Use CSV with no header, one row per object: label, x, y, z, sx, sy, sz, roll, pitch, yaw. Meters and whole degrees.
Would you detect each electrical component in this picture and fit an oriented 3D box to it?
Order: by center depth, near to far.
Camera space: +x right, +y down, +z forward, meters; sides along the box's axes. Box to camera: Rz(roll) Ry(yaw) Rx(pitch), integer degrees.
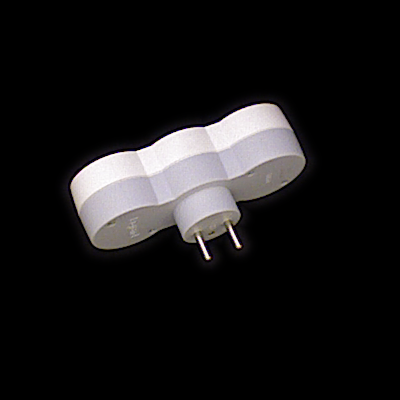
electrical component,0.000,0.000,0.631,0.138,0.074,0.052,-20,-23,-11
